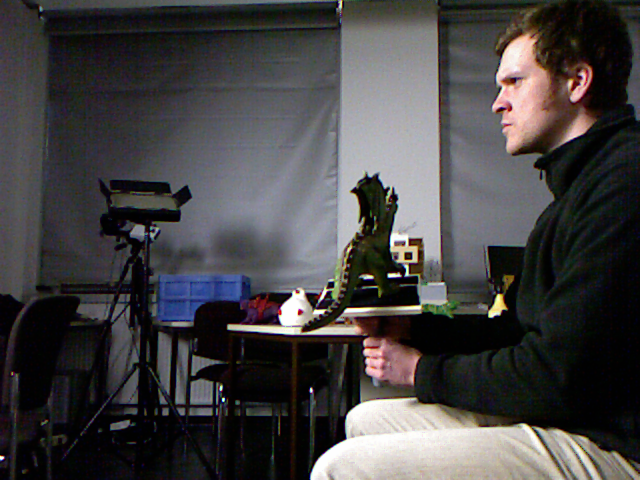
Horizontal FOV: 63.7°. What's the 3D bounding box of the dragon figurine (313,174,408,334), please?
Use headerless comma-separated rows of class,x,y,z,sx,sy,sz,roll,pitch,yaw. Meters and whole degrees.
dragon figurine,0.084,-0.007,0.999,0.122,0.240,0.416,4,18,24
